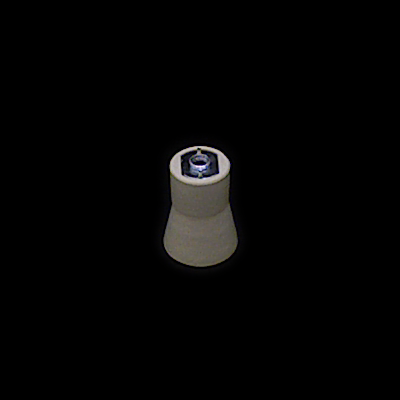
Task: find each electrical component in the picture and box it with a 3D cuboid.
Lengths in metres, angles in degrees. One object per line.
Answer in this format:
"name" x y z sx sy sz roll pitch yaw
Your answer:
"electrical component" 0.000 0.000 0.630 0.044 0.066 0.044 0 42 1
